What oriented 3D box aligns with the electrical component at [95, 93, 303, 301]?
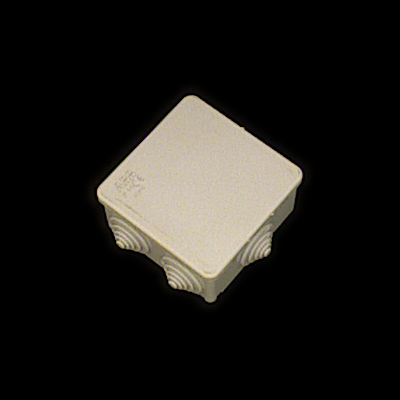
[{"bbox_3d":[0.000,0.000,0.639,0.099,0.100,0.048,36,-21,16],"label":"electrical component"}]
